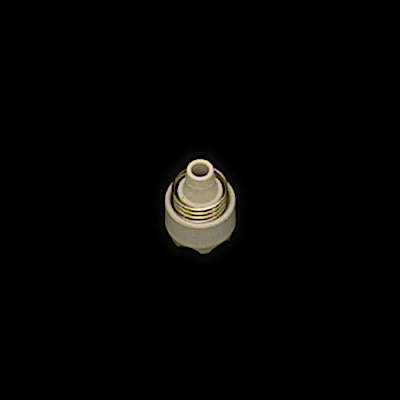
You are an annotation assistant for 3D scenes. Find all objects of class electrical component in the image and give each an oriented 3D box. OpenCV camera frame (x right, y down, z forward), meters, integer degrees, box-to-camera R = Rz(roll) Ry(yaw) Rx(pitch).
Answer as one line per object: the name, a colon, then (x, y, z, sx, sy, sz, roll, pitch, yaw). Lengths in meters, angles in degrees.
electrical component: (0.000, 0.000, 0.635, 0.043, 0.043, 0.062, 0, -36, 0)
